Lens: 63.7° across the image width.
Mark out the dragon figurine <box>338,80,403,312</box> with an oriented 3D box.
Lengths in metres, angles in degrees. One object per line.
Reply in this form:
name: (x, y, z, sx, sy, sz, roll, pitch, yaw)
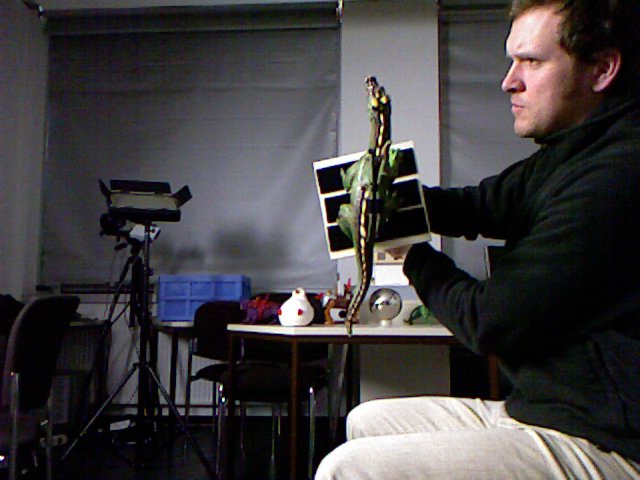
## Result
dragon figurine: (0.086, -0.068, 0.903, 0.123, 0.414, 0.244, 2, -2, 6)
